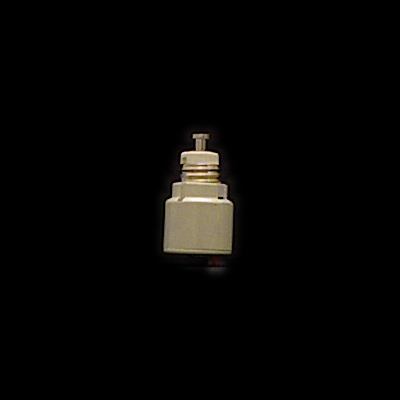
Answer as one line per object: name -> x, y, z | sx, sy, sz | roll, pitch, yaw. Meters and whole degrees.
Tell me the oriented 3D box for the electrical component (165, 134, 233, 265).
electrical component -> 0.000, 0.000, 0.648 | 0.040, 0.078, 0.040 | 2, 0, 0
